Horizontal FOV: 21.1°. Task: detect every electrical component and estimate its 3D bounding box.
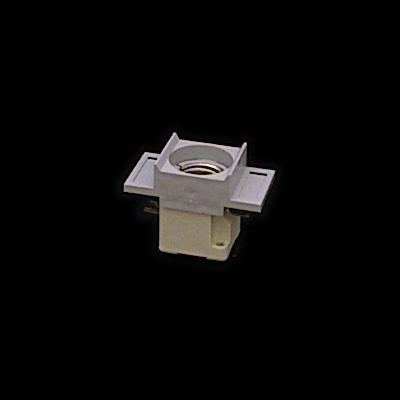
[{"bbox_3d":[0.000,0.000,0.633,0.080,0.064,0.042,9,33,12],"label":"electrical component"}]
